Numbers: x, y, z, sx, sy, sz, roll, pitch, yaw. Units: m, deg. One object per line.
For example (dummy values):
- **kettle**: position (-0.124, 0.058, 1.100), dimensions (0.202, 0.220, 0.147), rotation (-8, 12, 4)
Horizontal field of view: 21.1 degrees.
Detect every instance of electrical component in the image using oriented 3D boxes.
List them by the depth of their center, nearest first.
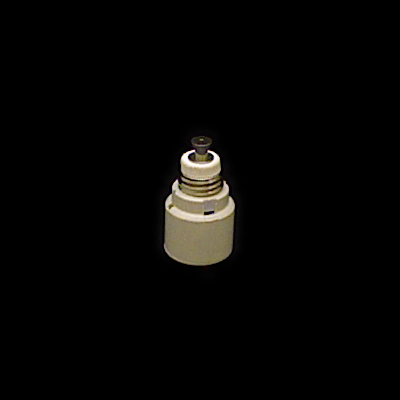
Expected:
- **electrical component**: position (0.000, 0.000, 0.629), dimensions (0.040, 0.079, 0.039), rotation (1, 30, -1)
